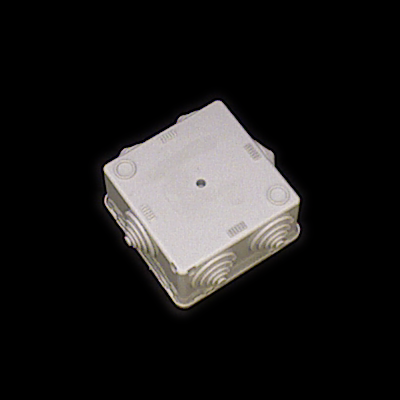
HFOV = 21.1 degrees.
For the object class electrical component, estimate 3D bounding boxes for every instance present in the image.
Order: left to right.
[{"bbox_3d":[0.000,0.000,0.631,0.100,0.099,0.048,-31,-23,-15],"label":"electrical component"}]
